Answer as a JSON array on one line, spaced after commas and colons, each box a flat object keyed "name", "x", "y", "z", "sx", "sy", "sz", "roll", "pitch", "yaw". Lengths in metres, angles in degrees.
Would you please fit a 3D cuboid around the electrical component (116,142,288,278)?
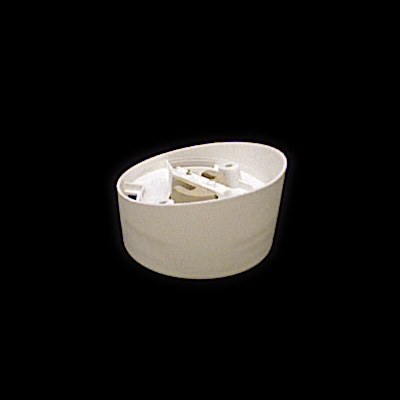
[{"name": "electrical component", "x": 0.000, "y": 0.000, "z": 0.633, "sx": 0.099, "sy": 0.065, "sz": 0.097, "roll": 2, "pitch": 31, "yaw": -1}]
